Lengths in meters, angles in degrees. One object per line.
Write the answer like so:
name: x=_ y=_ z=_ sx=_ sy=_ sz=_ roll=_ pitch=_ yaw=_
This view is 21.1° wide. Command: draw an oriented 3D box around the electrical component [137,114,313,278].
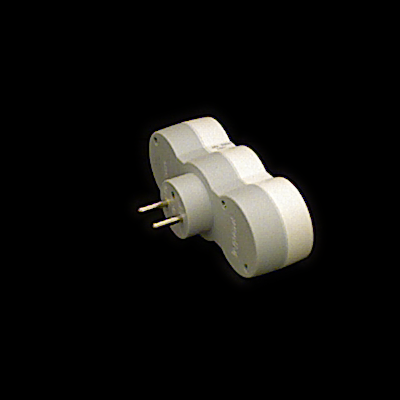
electrical component: x=0.000 y=0.000 z=0.643 sx=0.074 sy=0.053 sz=0.135 roll=-17 pitch=37 yaw=-24
